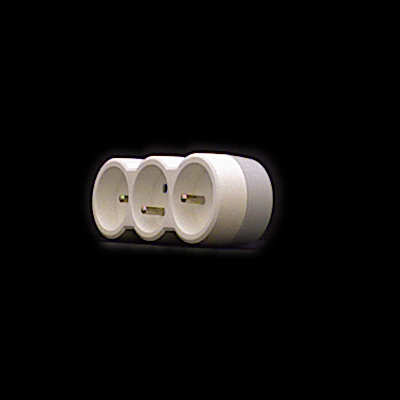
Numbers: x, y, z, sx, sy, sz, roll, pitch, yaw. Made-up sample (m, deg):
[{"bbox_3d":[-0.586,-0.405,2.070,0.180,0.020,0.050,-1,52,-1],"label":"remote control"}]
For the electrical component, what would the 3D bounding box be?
[{"bbox_3d":[0.000,0.000,0.652,0.074,0.052,0.137,3,-2,-36],"label":"electrical component"}]
